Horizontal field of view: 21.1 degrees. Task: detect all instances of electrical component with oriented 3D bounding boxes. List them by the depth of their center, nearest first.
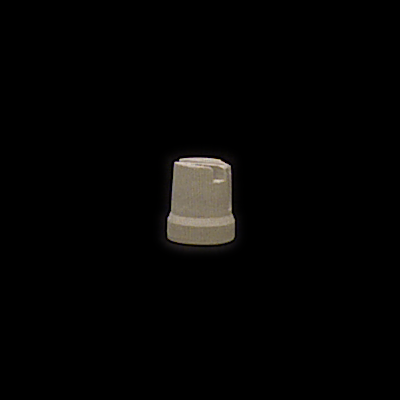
[{"bbox_3d":[0.000,0.000,0.645,0.040,0.046,0.040,1,12,0],"label":"electrical component"}]
